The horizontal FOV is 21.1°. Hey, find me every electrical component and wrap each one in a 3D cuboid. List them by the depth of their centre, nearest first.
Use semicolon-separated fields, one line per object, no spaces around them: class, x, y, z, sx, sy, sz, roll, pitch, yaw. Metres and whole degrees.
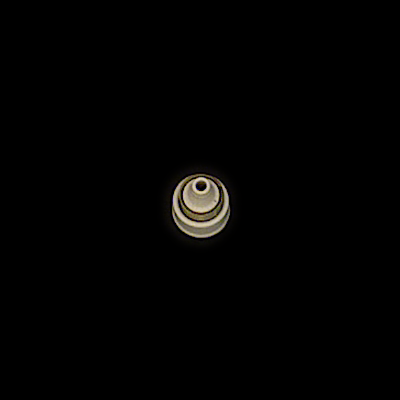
electrical component;0.000;0.000;0.637;0.035;0.035;0.061;0;-16;0
